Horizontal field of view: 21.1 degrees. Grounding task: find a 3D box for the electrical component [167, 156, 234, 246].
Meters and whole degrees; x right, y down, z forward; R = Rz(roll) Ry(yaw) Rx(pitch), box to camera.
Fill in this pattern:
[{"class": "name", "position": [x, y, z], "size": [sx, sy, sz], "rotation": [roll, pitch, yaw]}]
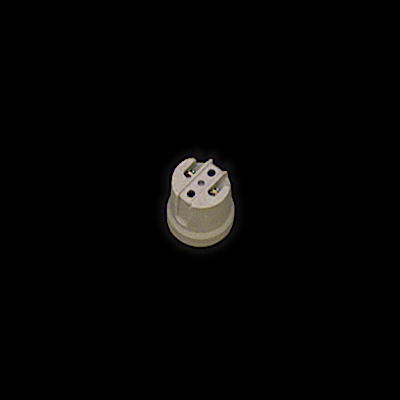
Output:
[{"class": "electrical component", "position": [0.000, 0.000, 0.633], "size": [0.040, 0.040, 0.046], "rotation": [0, -26, 0]}]
